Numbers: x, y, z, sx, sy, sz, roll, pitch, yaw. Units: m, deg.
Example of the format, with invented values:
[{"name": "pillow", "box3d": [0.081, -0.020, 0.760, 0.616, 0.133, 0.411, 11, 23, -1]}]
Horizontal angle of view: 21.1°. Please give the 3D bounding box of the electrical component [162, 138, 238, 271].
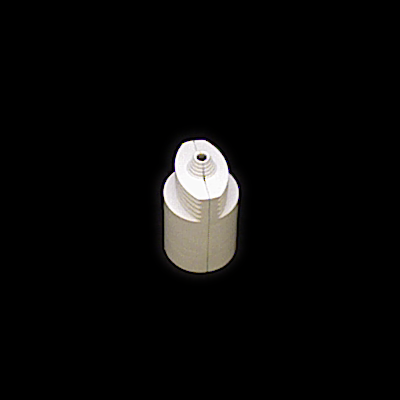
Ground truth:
[{"name": "electrical component", "box3d": [0.000, 0.000, 0.619, 0.043, 0.043, 0.081, 0, -38, 0]}]
